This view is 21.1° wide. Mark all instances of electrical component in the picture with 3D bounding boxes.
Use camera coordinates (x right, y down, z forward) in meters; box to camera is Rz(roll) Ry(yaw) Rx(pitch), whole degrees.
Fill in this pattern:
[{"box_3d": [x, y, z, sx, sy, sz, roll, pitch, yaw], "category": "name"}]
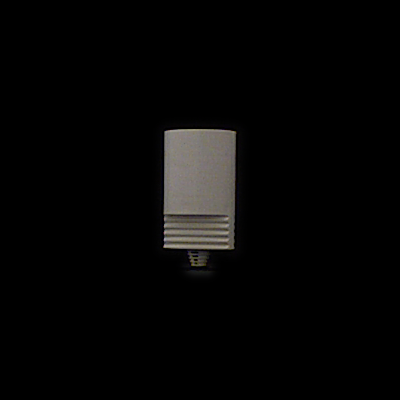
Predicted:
[{"box_3d": [0.000, 0.000, 0.648, 0.043, 0.081, 0.043, 1, 0, 0], "category": "electrical component"}]
